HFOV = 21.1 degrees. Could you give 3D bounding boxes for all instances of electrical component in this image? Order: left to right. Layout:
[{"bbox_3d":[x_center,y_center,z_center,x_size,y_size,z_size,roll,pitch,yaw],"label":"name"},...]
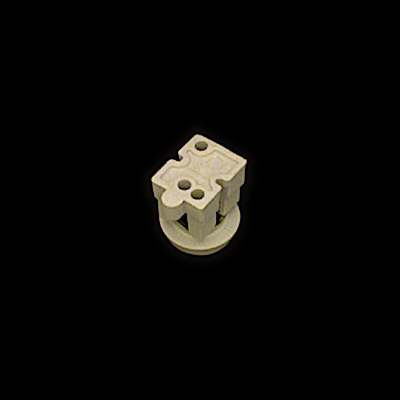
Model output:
[{"bbox_3d":[0.000,0.000,0.637,0.048,0.067,0.055,30,-32,22],"label":"electrical component"}]
